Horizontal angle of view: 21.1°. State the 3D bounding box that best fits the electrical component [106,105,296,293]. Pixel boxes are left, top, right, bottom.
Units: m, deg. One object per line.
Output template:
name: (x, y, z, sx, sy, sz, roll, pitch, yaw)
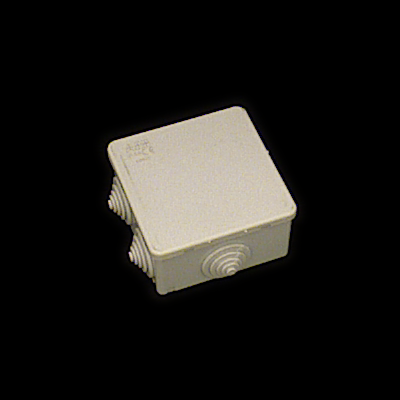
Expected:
electrical component: (0.000, 0.000, 0.640, 0.100, 0.099, 0.048, -16, -35, -12)
